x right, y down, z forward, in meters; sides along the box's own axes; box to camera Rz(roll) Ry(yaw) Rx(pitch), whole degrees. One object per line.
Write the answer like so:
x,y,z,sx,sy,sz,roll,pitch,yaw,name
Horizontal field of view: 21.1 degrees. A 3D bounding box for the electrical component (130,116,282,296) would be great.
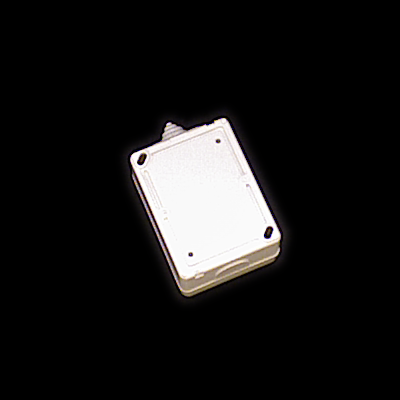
0.000,0.000,0.629,0.062,0.096,0.060,-22,-16,-7,electrical component
